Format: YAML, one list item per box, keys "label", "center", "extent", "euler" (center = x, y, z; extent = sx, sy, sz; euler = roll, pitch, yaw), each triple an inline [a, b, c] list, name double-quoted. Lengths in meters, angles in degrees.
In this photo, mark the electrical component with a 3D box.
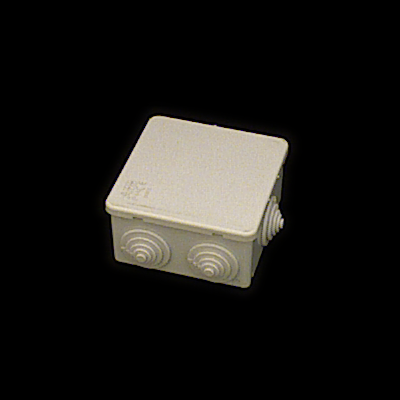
- label: "electrical component"
  center: [0.000, 0.000, 0.641]
  extent: [0.099, 0.049, 0.099]
  euler: [12, 44, 11]
